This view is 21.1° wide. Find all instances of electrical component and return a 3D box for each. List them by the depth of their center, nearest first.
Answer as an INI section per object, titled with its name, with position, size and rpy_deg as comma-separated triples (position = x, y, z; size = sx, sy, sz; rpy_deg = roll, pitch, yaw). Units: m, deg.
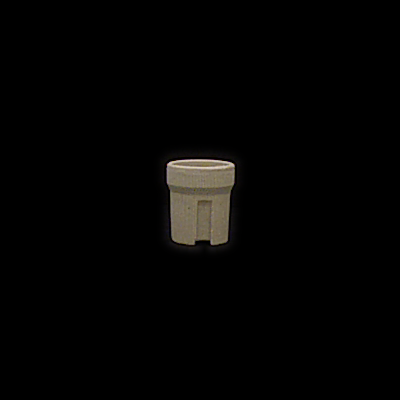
[electrical component]
position = 0.000, 0.000, 0.646
size = 0.040, 0.046, 0.040
rpy_deg = 1, 11, 0
